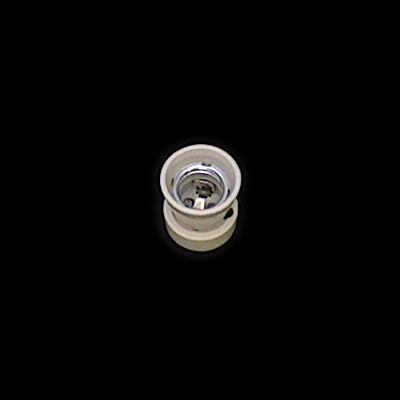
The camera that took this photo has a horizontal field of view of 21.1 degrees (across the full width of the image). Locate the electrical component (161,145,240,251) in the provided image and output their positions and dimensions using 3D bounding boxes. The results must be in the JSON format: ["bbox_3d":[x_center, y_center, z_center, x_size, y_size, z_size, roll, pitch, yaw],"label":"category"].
[{"bbox_3d":[0.000,0.000,0.628,0.045,0.045,0.055,0,-28,-1],"label":"electrical component"}]
